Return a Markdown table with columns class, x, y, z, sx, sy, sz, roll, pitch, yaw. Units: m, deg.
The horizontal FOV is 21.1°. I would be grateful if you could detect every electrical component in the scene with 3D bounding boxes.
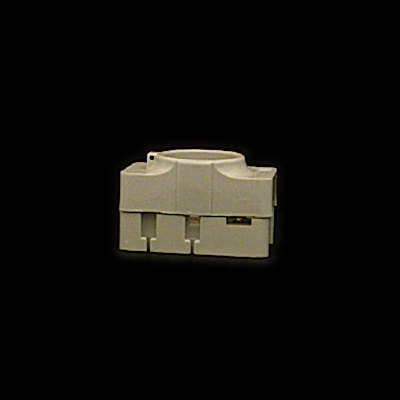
| class | x | y | z | sx | sy | sz | roll | pitch | yaw |
| --- | --- | --- | --- | --- | --- | --- | --- | --- | --- |
| electrical component | 0.000 | 0.000 | 0.652 | 0.089 | 0.056 | 0.050 | 3 | 12 | 6 |
